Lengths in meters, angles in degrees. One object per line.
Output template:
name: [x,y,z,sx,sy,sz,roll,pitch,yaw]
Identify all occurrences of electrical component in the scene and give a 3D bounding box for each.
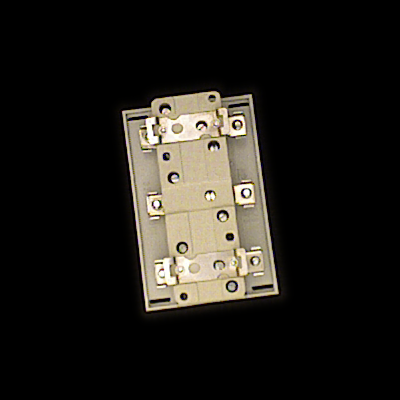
electrical component: [0.000,0.000,0.634,0.079,0.122,0.063,-8,-6,0]
